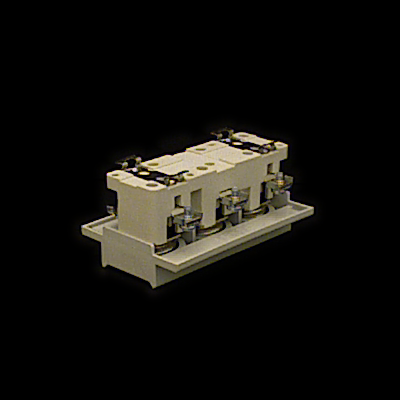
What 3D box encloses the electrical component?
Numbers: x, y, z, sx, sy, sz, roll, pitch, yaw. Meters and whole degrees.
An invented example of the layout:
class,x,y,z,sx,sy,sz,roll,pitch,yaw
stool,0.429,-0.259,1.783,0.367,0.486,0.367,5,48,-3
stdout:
class,x,y,z,sx,sy,sz,roll,pitch,yaw
electrical component,0.000,0.000,0.647,0.077,0.064,0.122,19,27,39
